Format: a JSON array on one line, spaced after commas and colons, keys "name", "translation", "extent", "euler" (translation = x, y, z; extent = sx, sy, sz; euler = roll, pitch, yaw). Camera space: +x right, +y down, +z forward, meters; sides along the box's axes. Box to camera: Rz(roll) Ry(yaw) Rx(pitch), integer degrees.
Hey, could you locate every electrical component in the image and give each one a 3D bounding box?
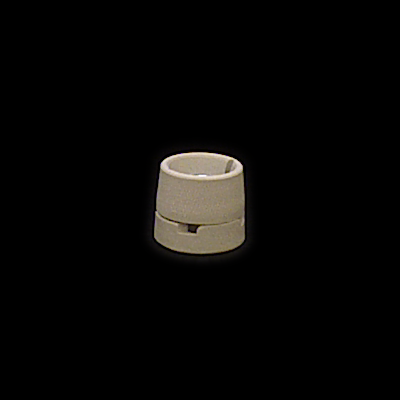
[{"name": "electrical component", "translation": [0.000, 0.000, 0.642], "extent": [0.055, 0.047, 0.055], "euler": [2, 21, -1]}]
